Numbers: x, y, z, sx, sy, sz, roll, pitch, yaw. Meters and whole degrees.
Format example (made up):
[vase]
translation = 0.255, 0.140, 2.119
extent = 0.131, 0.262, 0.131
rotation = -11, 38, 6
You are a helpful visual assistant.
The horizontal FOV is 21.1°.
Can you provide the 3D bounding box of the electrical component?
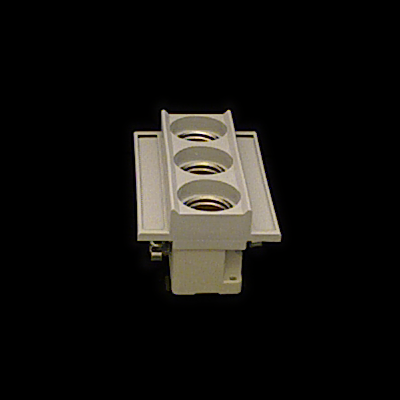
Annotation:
[electrical component]
translation = 0.000, 0.000, 0.647
extent = 0.079, 0.064, 0.119
rotation = 0, 32, -4
